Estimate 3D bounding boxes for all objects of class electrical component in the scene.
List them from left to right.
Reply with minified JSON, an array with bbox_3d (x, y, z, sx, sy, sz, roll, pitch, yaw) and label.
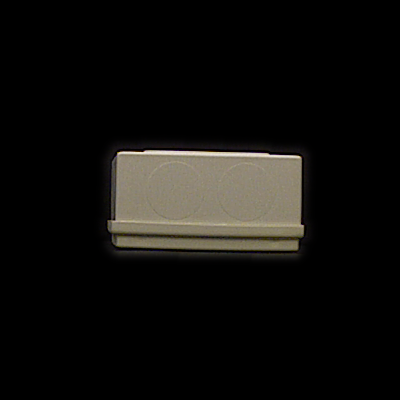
[{"bbox_3d":[0.000,0.000,0.650,0.109,0.056,0.108,1,-1,-7],"label":"electrical component"}]
